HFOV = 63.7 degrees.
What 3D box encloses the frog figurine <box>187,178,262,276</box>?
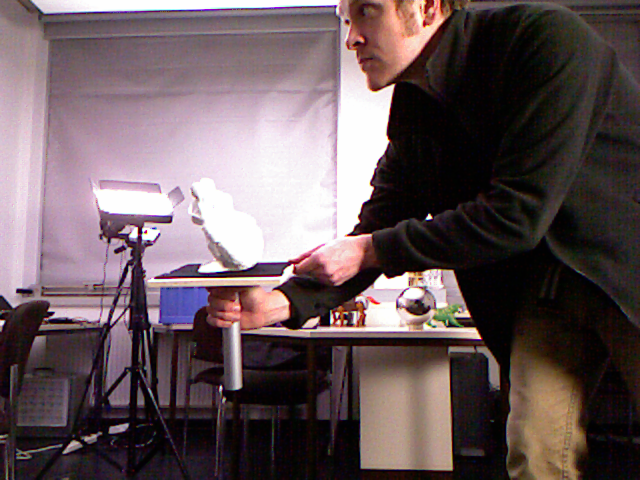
[{"bbox_3d":[-0.160,-0.025,0.869,0.123,0.159,0.139,3,9,24],"label":"frog figurine"}]
